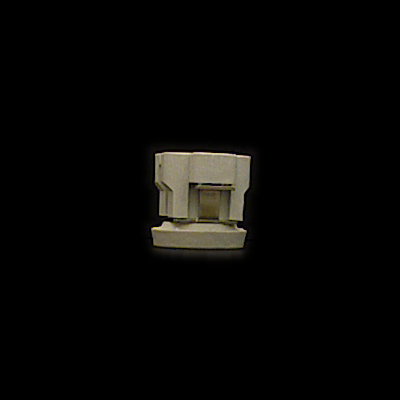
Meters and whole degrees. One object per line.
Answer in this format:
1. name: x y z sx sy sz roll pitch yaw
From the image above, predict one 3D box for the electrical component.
1. electrical component: 0.000 0.000 0.655 0.058 0.057 0.078 2 2 -14
